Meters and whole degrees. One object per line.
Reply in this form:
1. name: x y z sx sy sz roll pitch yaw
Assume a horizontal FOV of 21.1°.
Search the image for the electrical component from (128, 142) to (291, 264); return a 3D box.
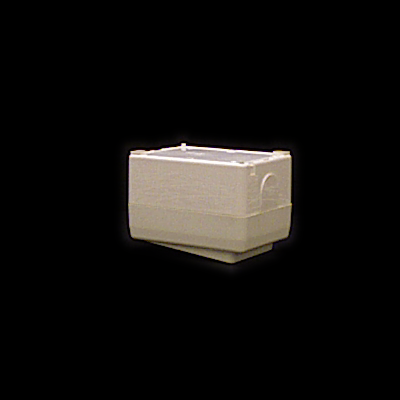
1. electrical component: 0.000 0.000 0.648 0.096 0.061 0.061 7 12 31
